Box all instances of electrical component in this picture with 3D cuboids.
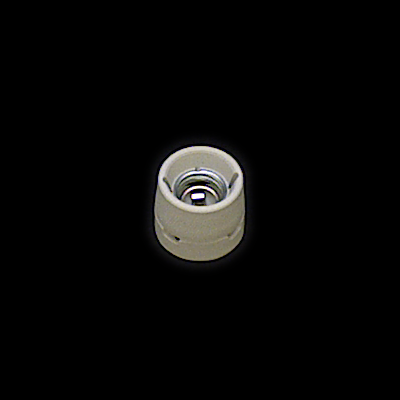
[{"bbox_3d":[0.000,0.000,0.634,0.055,0.055,0.047,0,-37,-2],"label":"electrical component"}]
